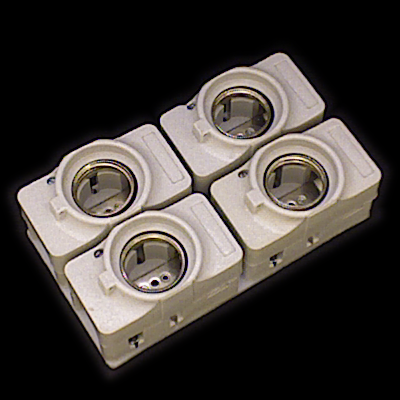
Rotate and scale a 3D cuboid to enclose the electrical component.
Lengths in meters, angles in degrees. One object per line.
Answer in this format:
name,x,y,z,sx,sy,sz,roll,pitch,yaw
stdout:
electrical component,0.000,0.000,0.625,0.187,0.105,0.060,-29,-23,-14
